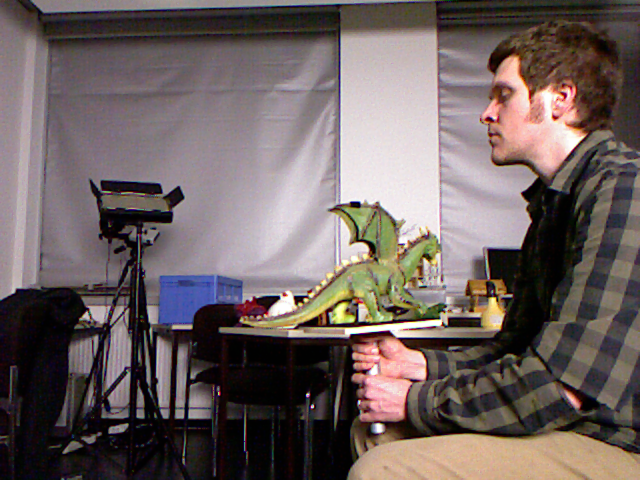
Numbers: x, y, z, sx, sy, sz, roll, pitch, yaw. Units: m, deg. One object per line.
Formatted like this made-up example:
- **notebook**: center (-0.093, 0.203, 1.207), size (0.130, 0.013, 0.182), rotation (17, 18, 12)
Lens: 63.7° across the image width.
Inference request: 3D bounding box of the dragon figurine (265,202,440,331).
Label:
- **dragon figurine**: center (0.085, 0.046, 1.024), size (0.411, 0.244, 0.122), rotation (-1, -4, -27)
